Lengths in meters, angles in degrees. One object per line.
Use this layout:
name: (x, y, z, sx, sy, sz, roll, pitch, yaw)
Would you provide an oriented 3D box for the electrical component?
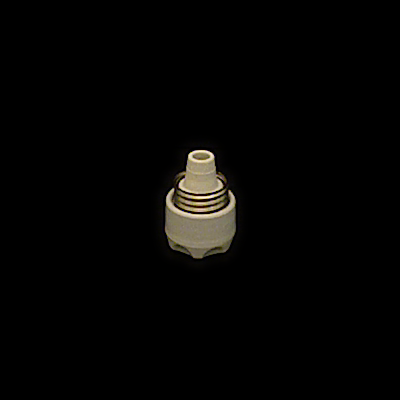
electrical component: (0.000, 0.000, 0.642, 0.043, 0.063, 0.043, 1, 31, 0)
